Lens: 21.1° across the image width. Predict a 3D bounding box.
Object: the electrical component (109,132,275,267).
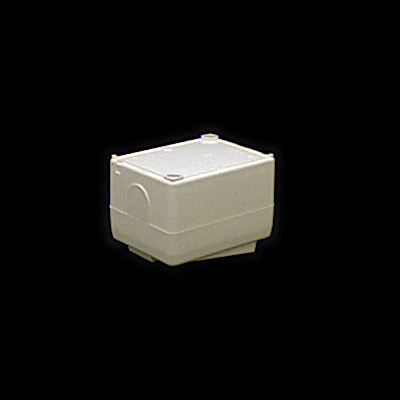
[{"bbox_3d":[0.000,0.000,0.645,0.095,0.062,0.061,-16,26,-37],"label":"electrical component"}]
